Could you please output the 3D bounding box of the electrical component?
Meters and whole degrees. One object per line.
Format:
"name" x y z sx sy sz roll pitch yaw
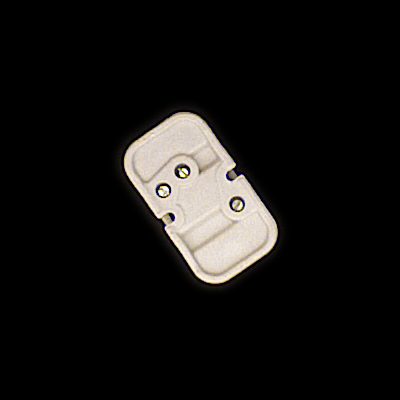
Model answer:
"electrical component" 0.000 0.000 0.636 0.054 0.095 0.059 -35 -5 -2
